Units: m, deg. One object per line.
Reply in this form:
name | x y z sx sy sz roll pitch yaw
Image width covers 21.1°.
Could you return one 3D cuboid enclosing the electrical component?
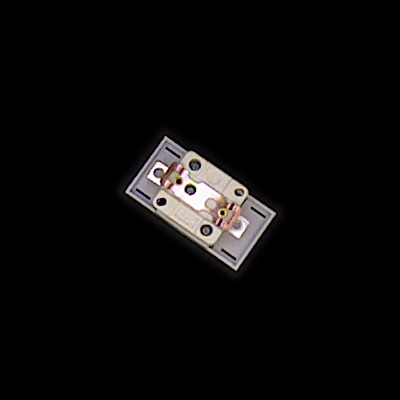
electrical component | 0.000 0.000 0.626 0.081 0.042 0.063 34 -5 4
